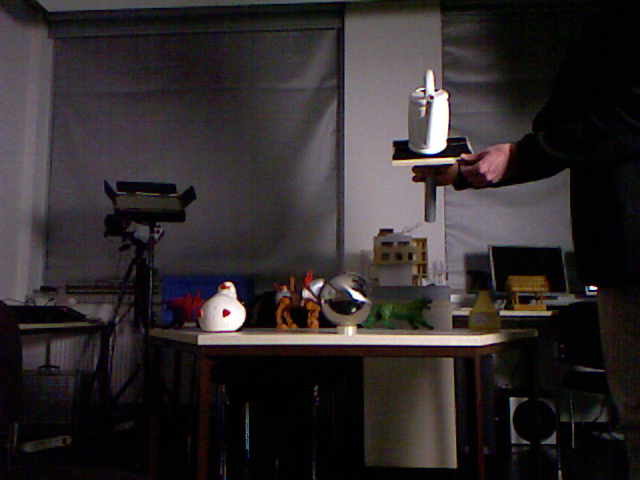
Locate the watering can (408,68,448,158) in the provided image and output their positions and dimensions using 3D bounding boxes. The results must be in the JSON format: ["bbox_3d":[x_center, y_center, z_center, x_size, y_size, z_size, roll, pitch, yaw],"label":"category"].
[{"bbox_3d":[0.275,-0.312,1.310,0.104,0.220,0.355,0,26,11],"label":"watering can"}]
